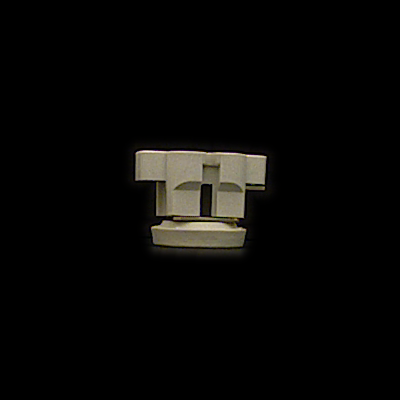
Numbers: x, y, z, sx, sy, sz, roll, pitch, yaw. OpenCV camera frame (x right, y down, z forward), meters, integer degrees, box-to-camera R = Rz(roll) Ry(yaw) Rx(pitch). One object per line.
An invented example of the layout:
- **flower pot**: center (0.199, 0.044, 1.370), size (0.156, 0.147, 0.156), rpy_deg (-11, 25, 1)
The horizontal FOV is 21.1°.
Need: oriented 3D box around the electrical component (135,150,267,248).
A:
- **electrical component**: center (0.000, 0.000, 0.658), size (0.079, 0.057, 0.057), rpy_deg (3, 0, -15)
